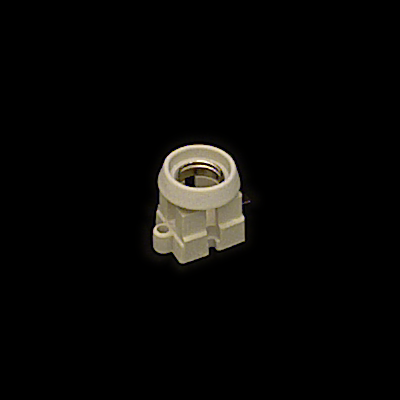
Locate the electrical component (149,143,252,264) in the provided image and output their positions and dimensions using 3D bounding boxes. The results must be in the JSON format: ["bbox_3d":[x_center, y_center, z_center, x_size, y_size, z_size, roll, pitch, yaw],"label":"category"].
[{"bbox_3d":[0.000,0.000,0.641,0.067,0.056,0.048,-20,48,-21],"label":"electrical component"}]
